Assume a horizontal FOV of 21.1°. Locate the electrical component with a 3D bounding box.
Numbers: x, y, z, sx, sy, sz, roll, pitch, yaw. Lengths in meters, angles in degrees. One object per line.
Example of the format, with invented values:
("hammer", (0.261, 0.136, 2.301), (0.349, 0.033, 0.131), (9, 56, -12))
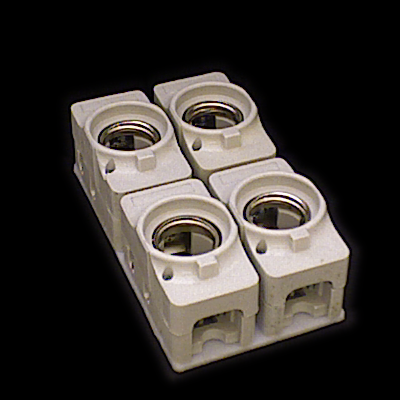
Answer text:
("electrical component", (0.000, 0.000, 0.630), (0.105, 0.061, 0.184), (-15, 45, -17))
